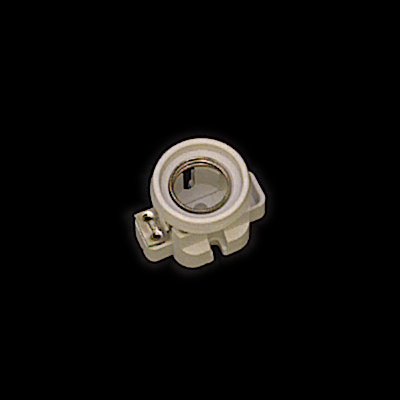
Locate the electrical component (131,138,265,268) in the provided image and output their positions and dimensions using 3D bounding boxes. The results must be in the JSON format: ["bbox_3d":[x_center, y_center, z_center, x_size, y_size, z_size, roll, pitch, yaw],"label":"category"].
[{"bbox_3d":[0.000,0.000,0.627,0.079,0.058,0.056,-22,-25,-11],"label":"electrical component"}]
